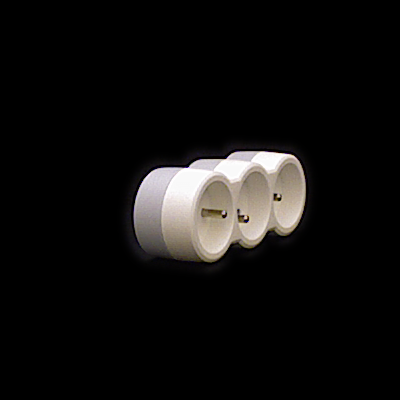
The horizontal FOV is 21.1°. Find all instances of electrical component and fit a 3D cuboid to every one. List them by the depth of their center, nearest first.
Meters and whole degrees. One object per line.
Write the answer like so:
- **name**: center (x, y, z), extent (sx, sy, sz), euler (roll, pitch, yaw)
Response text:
- **electrical component**: center (0.000, 0.000, 0.642), extent (0.073, 0.052, 0.138), euler (5, 12, 31)
